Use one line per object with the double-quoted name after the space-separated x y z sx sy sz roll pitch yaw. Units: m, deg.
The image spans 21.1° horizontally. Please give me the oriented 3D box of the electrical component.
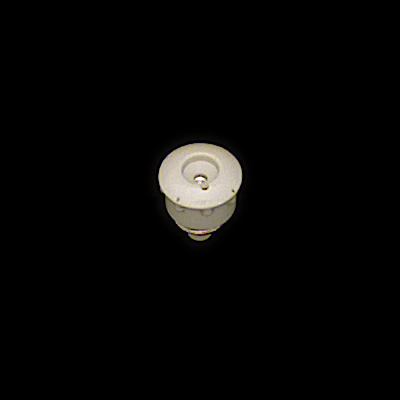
0.000 0.000 0.635 0.048 0.048 0.062 0 -37 0 "electrical component"
